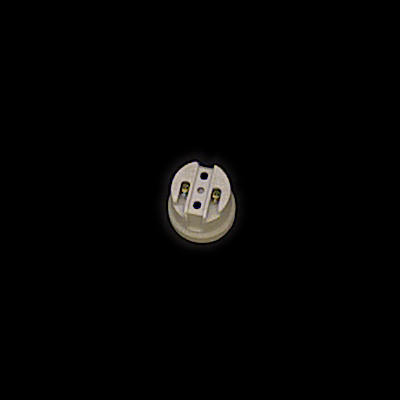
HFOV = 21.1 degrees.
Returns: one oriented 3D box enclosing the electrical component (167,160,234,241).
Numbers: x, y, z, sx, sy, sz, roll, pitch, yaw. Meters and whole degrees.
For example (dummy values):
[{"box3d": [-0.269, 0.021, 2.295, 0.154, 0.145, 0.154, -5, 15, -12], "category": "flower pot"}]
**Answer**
[{"box3d": [0.000, 0.000, 0.633, 0.040, 0.040, 0.046, 0, -17, 1], "category": "electrical component"}]
